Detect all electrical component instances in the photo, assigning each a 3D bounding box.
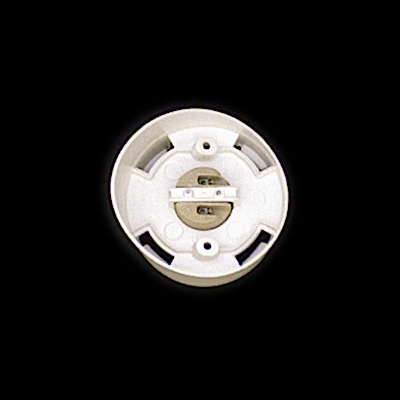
[{"bbox_3d":[0.000,0.000,0.623,0.099,0.099,0.064,0,-16,1],"label":"electrical component"}]
